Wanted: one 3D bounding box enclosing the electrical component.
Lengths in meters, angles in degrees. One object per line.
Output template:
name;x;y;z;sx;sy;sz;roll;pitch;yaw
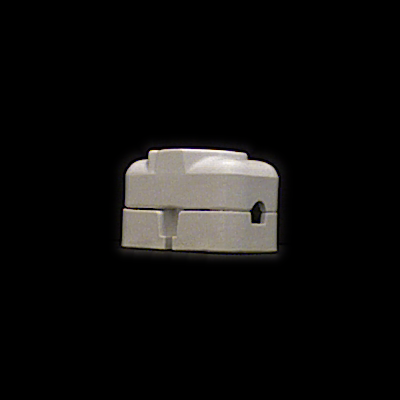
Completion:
electrical component;0.000;0.000;0.655;0.094;0.059;0.054;2;1;41
